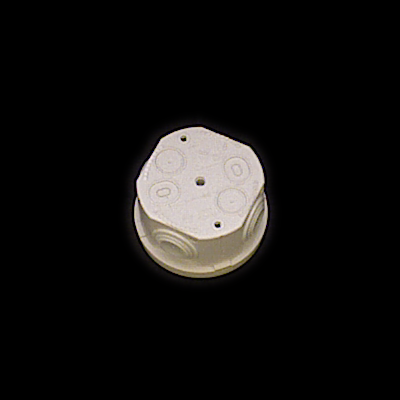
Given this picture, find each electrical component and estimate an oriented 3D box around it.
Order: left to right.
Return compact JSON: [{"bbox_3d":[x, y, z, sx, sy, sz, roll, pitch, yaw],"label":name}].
[{"bbox_3d":[0.000,0.000,0.632,0.080,0.080,0.050,0,-28,0],"label":"electrical component"}]
